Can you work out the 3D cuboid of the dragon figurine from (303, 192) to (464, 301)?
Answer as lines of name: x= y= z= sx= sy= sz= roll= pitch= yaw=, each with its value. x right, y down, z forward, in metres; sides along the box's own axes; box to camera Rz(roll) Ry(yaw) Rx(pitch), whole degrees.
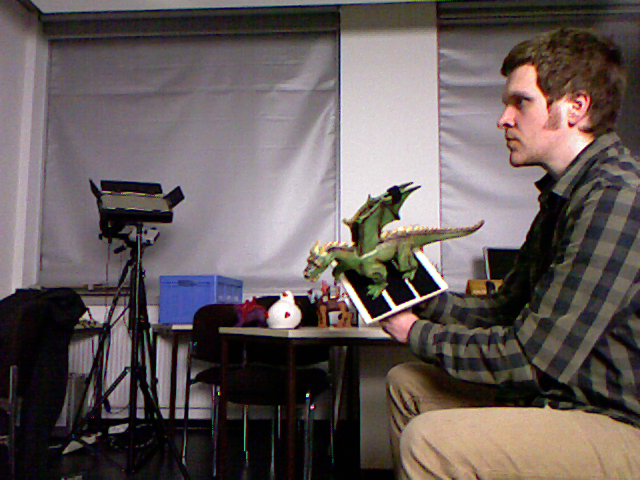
dragon figurine: x=0.143 y=-0.004 z=1.079 sx=0.414 sy=0.125 sz=0.238 roll=-27 pitch=-34 yaw=-14
